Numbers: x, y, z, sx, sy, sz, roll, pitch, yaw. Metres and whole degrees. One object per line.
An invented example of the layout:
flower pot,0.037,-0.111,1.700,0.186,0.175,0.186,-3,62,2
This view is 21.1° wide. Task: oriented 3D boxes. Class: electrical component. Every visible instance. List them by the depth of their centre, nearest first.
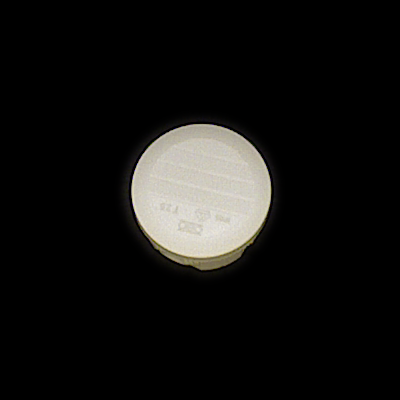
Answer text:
electrical component,0.000,0.000,0.630,0.080,0.080,0.050,0,-17,0
